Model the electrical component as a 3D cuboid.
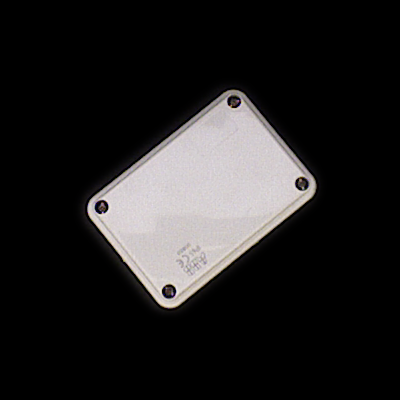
[{"bbox_3d":[0.000,0.000,0.627,0.113,0.078,0.057,-39,-5,-4],"label":"electrical component"}]
